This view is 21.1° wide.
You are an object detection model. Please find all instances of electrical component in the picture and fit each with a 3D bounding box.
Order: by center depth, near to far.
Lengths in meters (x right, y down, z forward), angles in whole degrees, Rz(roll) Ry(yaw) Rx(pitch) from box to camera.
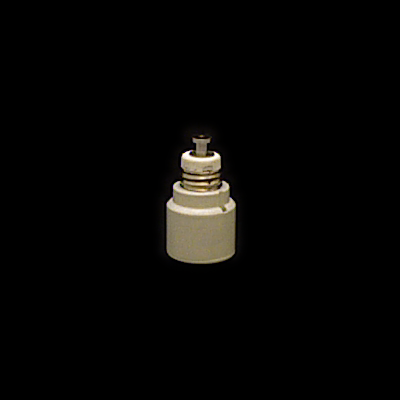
[{"bbox_3d":[0.000,0.000,0.634,0.040,0.079,0.039,0,21,0],"label":"electrical component"}]
